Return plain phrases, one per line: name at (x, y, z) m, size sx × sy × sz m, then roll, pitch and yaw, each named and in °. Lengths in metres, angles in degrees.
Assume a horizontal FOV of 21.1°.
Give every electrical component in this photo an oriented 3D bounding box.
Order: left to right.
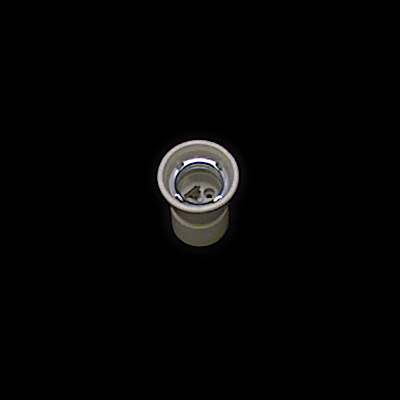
electrical component at (0.000, 0.000, 0.624) m, size 0.044 × 0.044 × 0.065 m, roll 0°, pitch -26°, yaw 0°
